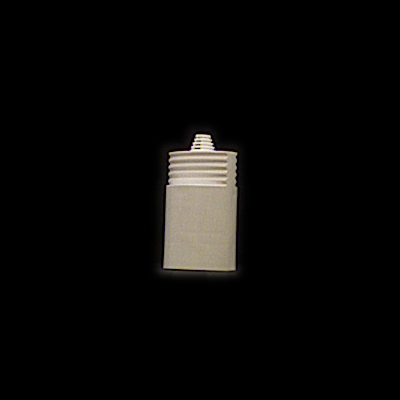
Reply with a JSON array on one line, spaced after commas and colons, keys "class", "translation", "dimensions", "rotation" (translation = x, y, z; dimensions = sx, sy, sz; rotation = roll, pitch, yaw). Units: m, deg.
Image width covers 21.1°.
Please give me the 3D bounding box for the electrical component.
[{"class": "electrical component", "translation": [0.000, 0.000, 0.649], "dimensions": [0.043, 0.081, 0.043], "rotation": [1, 1, 0]}]
